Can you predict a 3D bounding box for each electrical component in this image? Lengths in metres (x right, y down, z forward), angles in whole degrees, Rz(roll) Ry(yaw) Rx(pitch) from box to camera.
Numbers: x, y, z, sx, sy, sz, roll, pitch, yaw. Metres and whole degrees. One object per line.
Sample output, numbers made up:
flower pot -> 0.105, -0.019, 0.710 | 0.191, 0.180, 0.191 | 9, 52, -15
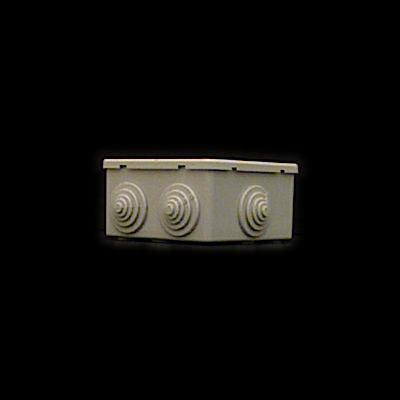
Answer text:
electrical component -> 0.000, 0.000, 0.658 | 0.098, 0.048, 0.100 | 2, 1, 40
